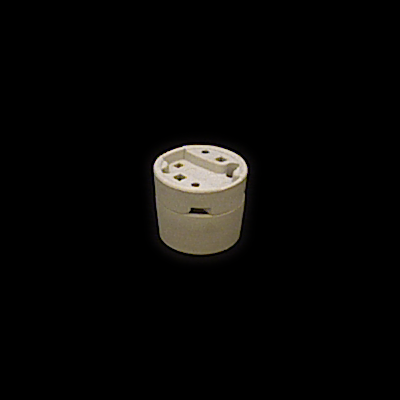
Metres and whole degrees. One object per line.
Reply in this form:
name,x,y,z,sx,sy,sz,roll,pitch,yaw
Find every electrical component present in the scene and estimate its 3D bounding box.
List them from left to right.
electrical component,0.000,0.000,0.638,0.055,0.047,0.055,1,31,0
